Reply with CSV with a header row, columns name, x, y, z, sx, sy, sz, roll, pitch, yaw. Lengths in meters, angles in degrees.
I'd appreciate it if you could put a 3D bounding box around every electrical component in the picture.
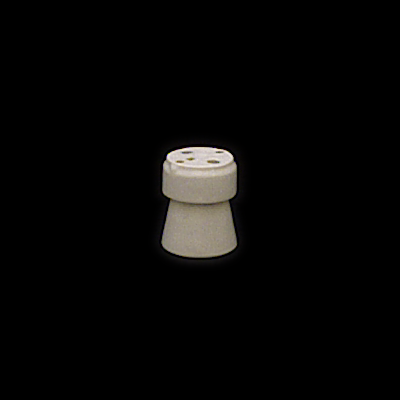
name,x,y,z,sx,sy,sz,roll,pitch,yaw
electrical component,0.000,0.000,0.640,0.045,0.056,0.044,1,21,0
